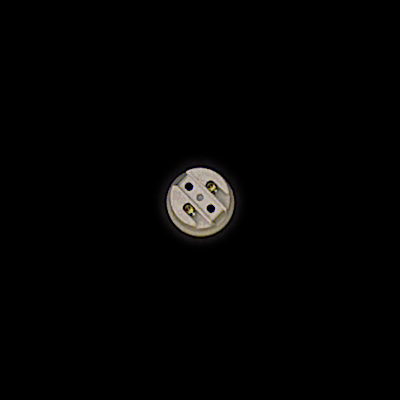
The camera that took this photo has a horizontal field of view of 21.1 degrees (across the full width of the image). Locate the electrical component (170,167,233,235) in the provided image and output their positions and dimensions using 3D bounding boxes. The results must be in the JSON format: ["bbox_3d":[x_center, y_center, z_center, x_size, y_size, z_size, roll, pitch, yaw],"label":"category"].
[{"bbox_3d":[0.000,0.000,0.634,0.040,0.040,0.046,0,-6,1],"label":"electrical component"}]
